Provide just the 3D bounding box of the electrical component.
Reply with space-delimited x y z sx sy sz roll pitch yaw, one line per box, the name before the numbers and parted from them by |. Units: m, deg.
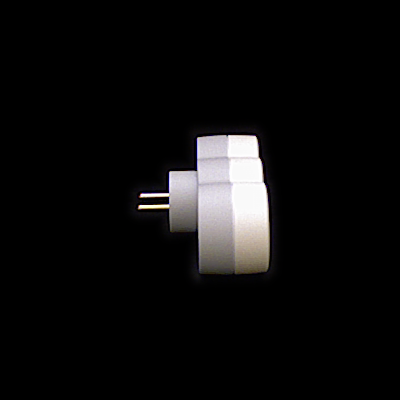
electrical component | 0.000 0.000 0.638 0.074 0.053 0.137 -1 22 0
